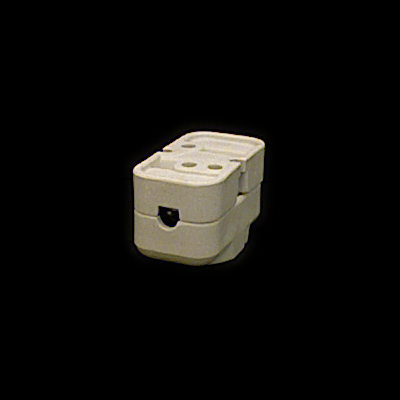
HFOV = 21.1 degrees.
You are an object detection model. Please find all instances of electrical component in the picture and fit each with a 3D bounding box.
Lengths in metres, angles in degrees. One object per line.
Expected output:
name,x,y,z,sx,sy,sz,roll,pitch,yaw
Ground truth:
electrical component,0.000,0.000,0.646,0.053,0.060,0.094,10,23,21
